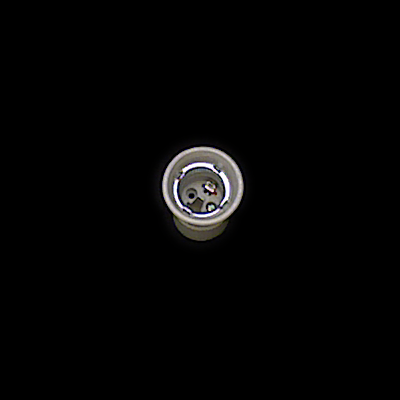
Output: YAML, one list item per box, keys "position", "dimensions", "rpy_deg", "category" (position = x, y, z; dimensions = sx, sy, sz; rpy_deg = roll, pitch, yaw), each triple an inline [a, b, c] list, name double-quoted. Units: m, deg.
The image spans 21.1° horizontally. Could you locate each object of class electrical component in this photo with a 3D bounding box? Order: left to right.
- position: [0.000, 0.000, 0.624]
  dimensions: [0.044, 0.044, 0.065]
  rpy_deg: [0, -16, -1]
  category: "electrical component"
